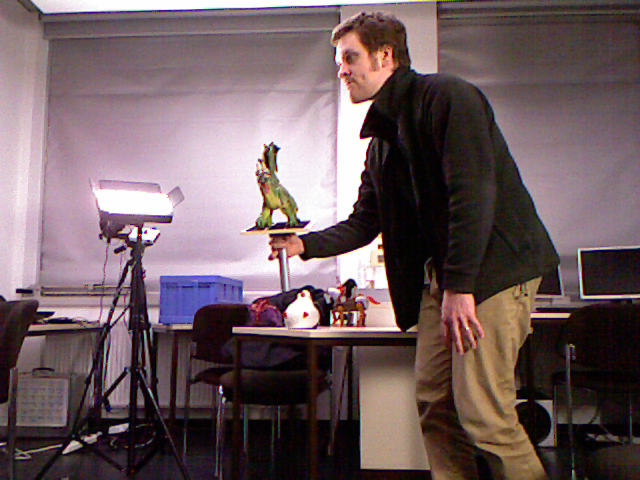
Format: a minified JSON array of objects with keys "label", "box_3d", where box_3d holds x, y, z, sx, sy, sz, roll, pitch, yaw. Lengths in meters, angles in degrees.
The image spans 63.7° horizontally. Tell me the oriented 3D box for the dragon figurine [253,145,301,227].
[{"label":"dragon figurine","box_3d":[-0.129,-0.168,1.569,0.122,0.241,0.414,-3,10,7]}]
